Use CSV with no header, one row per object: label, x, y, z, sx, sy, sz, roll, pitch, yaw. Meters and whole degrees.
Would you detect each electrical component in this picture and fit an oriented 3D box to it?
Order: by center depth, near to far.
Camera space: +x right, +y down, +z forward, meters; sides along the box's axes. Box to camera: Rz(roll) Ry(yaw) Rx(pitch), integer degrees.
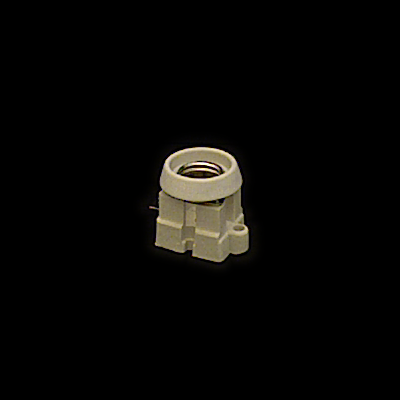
electrical component,0.000,0.000,0.642,0.066,0.056,0.048,14,33,19
